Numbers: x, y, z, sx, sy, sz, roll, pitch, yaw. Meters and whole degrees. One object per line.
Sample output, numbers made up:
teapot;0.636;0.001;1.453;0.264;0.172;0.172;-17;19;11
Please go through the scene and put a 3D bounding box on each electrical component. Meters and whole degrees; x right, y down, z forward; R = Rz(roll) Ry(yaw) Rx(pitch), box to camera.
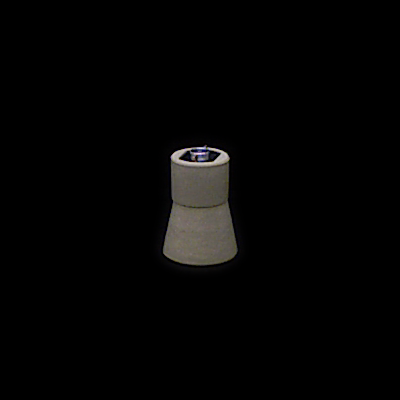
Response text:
electrical component;0.000;0.000;0.639;0.044;0.066;0.044;0;21;0
